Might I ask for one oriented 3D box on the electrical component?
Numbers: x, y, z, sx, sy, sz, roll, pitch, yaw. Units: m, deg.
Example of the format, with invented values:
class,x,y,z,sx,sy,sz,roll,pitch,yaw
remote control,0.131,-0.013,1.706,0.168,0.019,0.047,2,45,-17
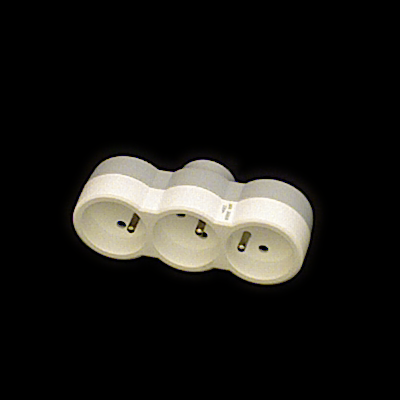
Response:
class,x,y,z,sx,sy,sz,roll,pitch,yaw
electrical component,0.000,0.000,0.643,0.138,0.053,0.073,9,42,9
